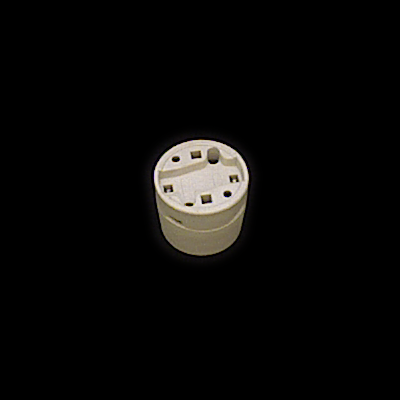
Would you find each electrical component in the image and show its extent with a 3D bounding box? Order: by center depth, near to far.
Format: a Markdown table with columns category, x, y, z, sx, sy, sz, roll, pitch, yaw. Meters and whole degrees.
| category | x | y | z | sx | sy | sz | roll | pitch | yaw |
| --- | --- | --- | --- | --- | --- | --- | --- | --- | --- |
| electrical component | 0.000 | 0.000 | 0.634 | 0.055 | 0.055 | 0.047 | 0 | -38 | -1 |
